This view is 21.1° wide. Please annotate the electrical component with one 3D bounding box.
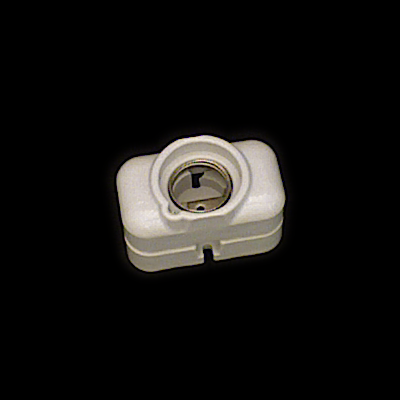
[{"bbox_3d":[0.000,0.000,0.633,0.095,0.053,0.059,-10,-27,-4],"label":"electrical component"}]
